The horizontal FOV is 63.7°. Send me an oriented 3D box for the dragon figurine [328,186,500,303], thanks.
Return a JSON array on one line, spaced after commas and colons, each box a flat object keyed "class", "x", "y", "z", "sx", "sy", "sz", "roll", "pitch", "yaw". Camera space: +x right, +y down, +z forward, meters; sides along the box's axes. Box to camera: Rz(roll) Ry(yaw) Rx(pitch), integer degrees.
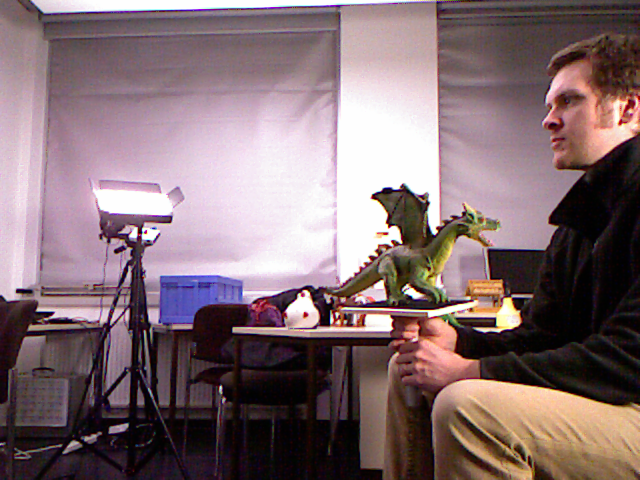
[{"class": "dragon figurine", "x": 0.163, "y": 0.010, "z": 1.061, "sx": 0.409, "sy": 0.243, "sz": 0.122, "roll": -4, "pitch": 0, "yaw": 38}]
